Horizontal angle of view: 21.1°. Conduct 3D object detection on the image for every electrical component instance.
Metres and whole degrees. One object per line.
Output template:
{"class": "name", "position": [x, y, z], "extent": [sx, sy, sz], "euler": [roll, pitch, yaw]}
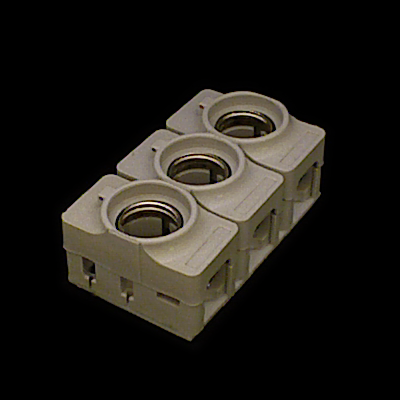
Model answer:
{"class": "electrical component", "position": [0.000, 0.000, 0.636], "extent": [0.089, 0.063, 0.148], "euler": [23, 46, 24]}
